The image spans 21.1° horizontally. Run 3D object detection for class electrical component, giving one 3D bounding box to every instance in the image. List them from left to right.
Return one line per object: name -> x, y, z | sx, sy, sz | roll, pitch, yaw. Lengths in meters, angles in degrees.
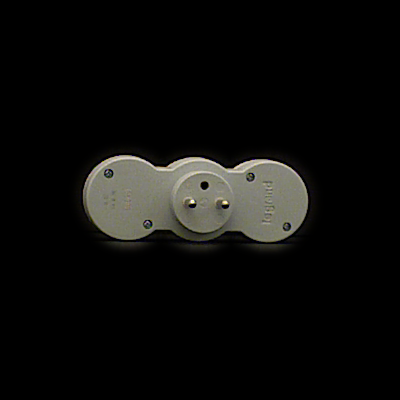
electrical component -> 0.000, 0.000, 0.653 | 0.139, 0.052, 0.073 | 1, 2, -10
